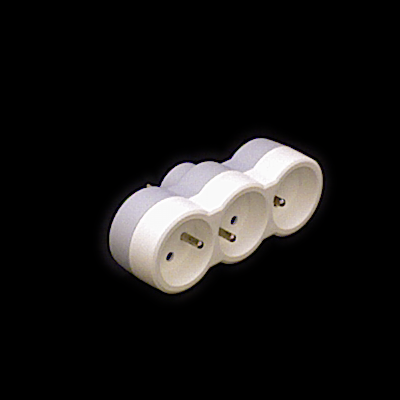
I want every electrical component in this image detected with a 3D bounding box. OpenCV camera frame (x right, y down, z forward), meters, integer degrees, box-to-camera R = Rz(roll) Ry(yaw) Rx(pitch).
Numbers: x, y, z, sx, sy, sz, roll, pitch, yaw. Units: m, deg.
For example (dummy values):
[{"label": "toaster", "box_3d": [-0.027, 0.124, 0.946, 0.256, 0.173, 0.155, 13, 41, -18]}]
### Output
[{"label": "electrical component", "box_3d": [0.000, 0.000, 0.634, 0.138, 0.053, 0.073, -26, 39, -35]}]
